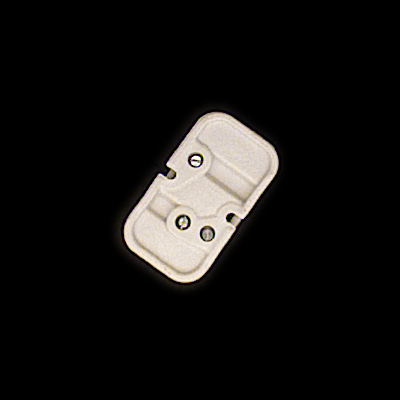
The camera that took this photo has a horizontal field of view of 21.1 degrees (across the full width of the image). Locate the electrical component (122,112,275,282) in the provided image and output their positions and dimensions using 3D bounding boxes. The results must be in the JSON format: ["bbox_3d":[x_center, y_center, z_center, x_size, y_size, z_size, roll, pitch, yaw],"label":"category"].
[{"bbox_3d":[0.000,0.000,0.636,0.054,0.095,0.059,35,-5,4],"label":"electrical component"}]
